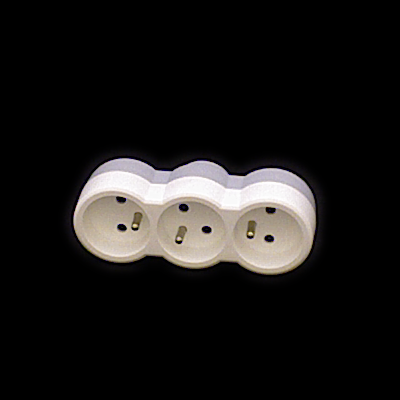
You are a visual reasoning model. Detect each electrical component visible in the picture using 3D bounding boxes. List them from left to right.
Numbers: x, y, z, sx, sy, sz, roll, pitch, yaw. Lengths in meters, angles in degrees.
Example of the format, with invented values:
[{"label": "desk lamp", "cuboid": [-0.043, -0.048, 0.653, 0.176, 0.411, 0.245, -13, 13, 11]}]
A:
[{"label": "electrical component", "cuboid": [0.000, 0.000, 0.636, 0.138, 0.053, 0.073, 4, 30, 6]}]
